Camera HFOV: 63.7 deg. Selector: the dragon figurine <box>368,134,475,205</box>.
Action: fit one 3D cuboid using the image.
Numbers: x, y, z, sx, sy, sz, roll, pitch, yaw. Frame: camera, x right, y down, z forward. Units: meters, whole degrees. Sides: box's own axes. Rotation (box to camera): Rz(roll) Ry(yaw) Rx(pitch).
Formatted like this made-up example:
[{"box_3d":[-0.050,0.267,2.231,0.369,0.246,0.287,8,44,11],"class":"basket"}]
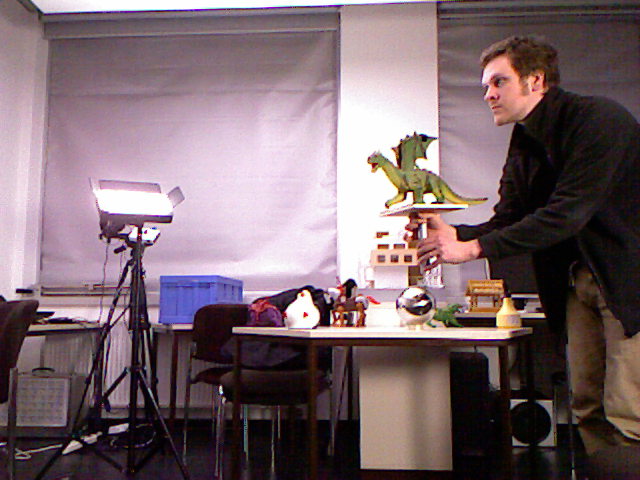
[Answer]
[{"box_3d":[0.327,-0.225,1.663,0.411,0.243,0.122,-3,0,-26],"class":"dragon figurine"}]
